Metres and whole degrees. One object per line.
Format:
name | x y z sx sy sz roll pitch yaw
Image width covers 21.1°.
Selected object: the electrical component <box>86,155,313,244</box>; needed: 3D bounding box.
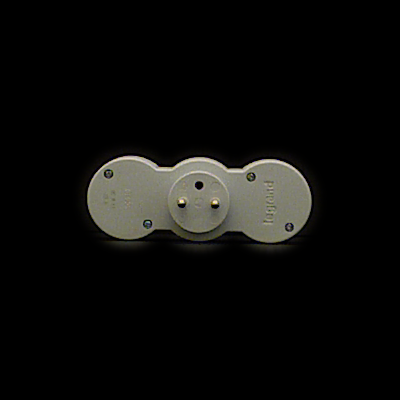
electrical component | 0.000 0.000 0.653 0.138 0.052 0.073 1 2 0
